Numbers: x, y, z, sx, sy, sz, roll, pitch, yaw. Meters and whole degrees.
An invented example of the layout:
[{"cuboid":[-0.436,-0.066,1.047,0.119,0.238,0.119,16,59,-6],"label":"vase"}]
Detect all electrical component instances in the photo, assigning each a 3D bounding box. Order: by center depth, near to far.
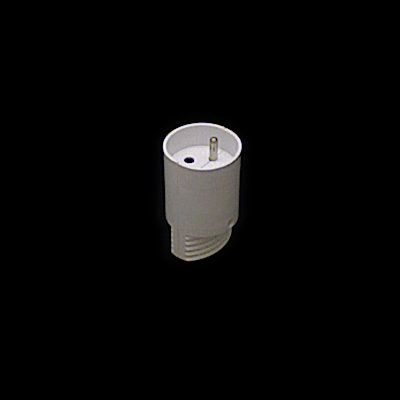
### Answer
[{"cuboid":[0.000,0.000,0.625,0.043,0.082,0.042,1,41,-1],"label":"electrical component"}]
